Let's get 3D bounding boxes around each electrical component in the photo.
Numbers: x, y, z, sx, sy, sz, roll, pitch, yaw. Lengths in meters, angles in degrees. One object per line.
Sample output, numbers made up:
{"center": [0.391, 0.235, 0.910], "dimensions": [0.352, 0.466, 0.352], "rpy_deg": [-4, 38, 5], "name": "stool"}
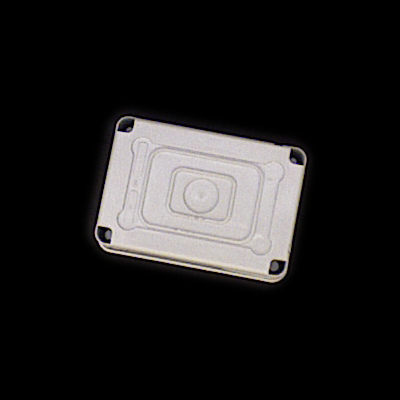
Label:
{"center": [0.000, 0.000, 0.629], "dimensions": [0.113, 0.078, 0.057], "rpy_deg": [11, -6, 2], "name": "electrical component"}
